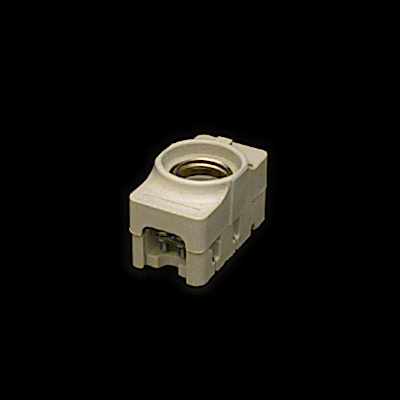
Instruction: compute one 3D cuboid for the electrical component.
[{"bbox_3d":[0.000,0.000,0.642,0.050,0.056,0.089,16,35,22],"label":"electrical component"}]
